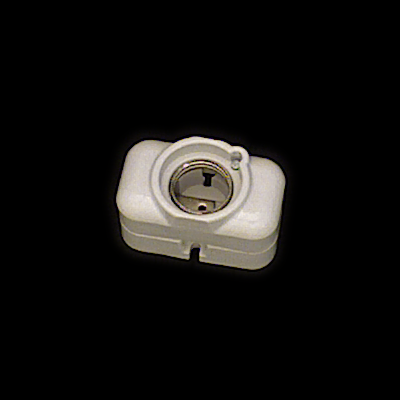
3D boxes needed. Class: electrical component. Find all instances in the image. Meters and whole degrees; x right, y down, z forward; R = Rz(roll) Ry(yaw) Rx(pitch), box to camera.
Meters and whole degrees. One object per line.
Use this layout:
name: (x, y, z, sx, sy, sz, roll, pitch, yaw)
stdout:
electrical component: (0.000, 0.000, 0.635, 0.095, 0.054, 0.059, 9, -26, 4)
